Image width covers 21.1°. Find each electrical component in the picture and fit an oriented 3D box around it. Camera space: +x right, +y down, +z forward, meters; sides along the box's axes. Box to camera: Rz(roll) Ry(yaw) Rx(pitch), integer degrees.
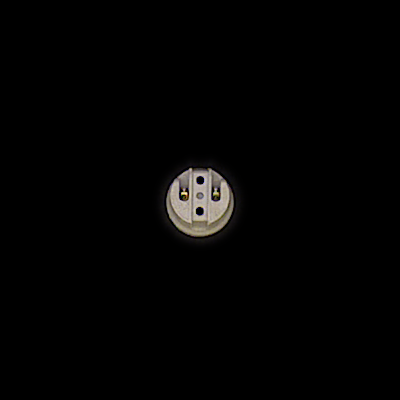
[{"bbox_3d":[0.000,0.000,0.635,0.040,0.040,0.046,0,-6,0],"label":"electrical component"}]
